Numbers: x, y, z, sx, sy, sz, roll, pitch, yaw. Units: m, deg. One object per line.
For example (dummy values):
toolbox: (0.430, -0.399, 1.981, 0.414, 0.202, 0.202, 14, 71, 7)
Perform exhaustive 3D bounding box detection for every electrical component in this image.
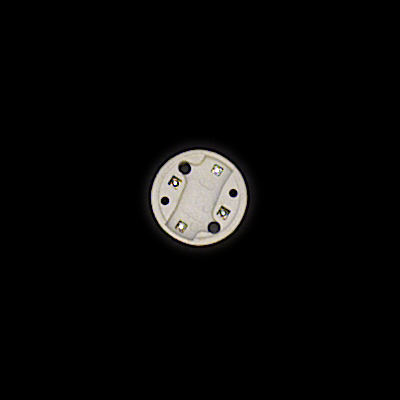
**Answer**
electrical component: (0.000, 0.000, 0.635, 0.055, 0.056, 0.047, 0, -7, 0)
